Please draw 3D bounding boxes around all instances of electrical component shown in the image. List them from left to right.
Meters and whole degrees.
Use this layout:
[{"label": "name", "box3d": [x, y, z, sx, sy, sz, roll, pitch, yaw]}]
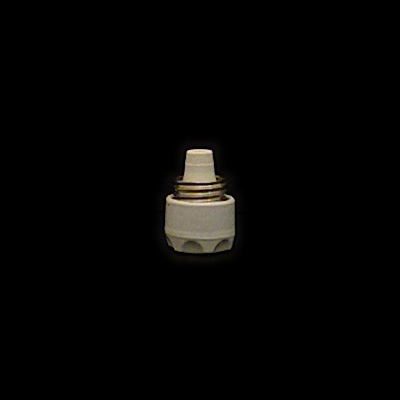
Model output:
[{"label": "electrical component", "box3d": [0.000, 0.000, 0.651, 0.043, 0.062, 0.043, 0, 11, 1]}]
